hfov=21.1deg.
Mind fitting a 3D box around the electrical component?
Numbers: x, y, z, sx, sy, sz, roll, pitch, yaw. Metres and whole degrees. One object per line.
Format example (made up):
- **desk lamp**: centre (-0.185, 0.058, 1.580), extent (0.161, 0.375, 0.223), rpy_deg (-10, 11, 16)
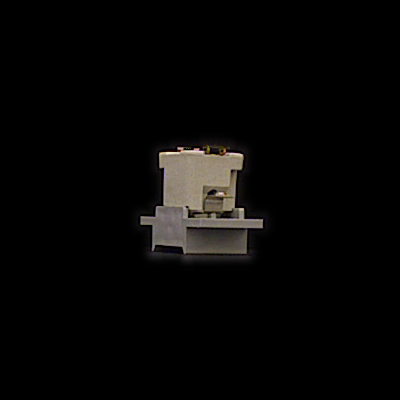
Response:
- **electrical component**: centre (0.000, 0.000, 0.649), extent (0.042, 0.064, 0.080), rpy_deg (1, 0, -29)
